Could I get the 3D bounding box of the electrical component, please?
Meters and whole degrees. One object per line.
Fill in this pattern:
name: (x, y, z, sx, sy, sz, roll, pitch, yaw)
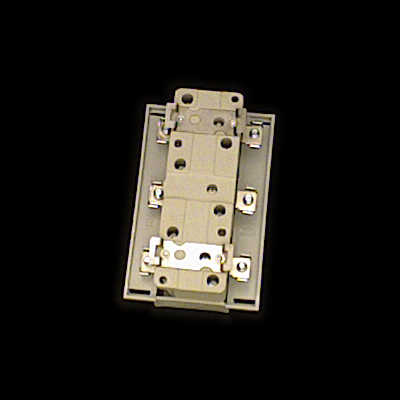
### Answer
electrical component: (0.000, 0.000, 0.633, 0.078, 0.122, 0.062, 5, -16, 3)
